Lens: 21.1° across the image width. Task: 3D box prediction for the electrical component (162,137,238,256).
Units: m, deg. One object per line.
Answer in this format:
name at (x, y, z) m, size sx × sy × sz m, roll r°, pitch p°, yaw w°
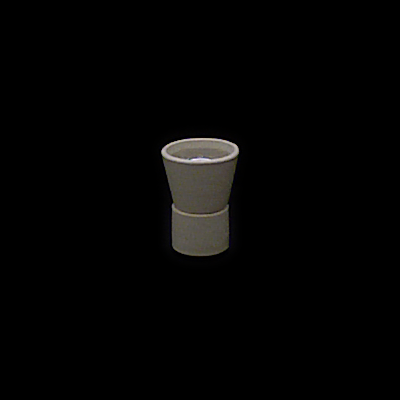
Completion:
electrical component at (0.000, 0.000, 0.636) m, size 0.044 × 0.066 × 0.044 m, roll 0°, pitch 22°, yaw 0°
